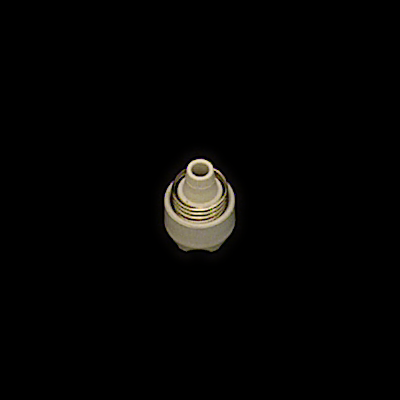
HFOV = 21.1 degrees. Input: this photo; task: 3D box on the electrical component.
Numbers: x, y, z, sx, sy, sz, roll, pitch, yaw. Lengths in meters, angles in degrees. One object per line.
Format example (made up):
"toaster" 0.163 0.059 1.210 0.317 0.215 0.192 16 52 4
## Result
"electrical component" 0.000 0.000 0.635 0.043 0.043 0.062 0 -36 -1
